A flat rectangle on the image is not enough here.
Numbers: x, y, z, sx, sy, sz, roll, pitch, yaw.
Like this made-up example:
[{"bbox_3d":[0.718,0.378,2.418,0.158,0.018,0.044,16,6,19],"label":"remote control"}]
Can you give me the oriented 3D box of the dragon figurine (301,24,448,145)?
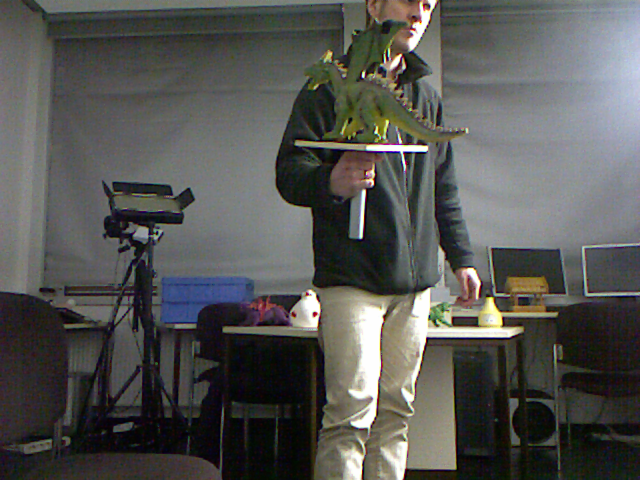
[{"bbox_3d":[0.110,-0.328,1.079,0.123,0.241,0.413,-7,16,-45],"label":"dragon figurine"}]
